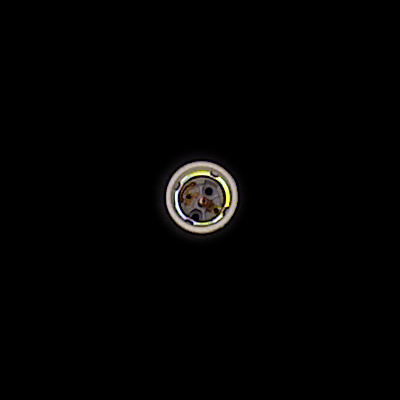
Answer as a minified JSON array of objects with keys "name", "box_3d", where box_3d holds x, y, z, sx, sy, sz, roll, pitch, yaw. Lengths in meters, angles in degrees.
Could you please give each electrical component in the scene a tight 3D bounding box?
[{"name":"electrical component","box_3d":[0.000,0.000,0.628,0.040,0.040,0.046,0,-7,0]}]
